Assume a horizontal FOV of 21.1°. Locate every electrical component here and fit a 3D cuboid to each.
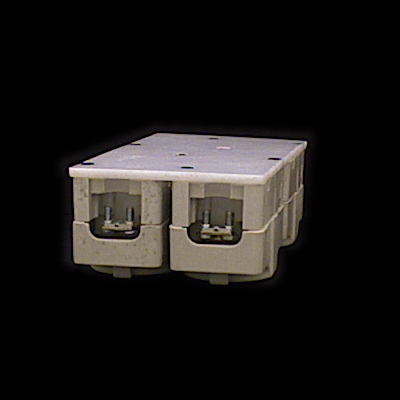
[{"bbox_3d":[0.000,0.000,0.644,0.105,0.060,0.185,4,10,12],"label":"electrical component"}]
